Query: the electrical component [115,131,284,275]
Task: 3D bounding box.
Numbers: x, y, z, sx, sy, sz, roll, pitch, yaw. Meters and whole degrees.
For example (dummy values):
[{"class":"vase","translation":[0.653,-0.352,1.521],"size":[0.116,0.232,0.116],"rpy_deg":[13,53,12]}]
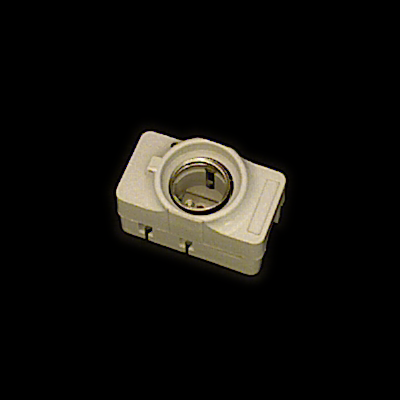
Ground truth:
[{"class":"electrical component","translation":[0.000,0.000,0.636],"size":[0.089,0.050,0.055],"rpy_deg":[18,-25,9]}]
